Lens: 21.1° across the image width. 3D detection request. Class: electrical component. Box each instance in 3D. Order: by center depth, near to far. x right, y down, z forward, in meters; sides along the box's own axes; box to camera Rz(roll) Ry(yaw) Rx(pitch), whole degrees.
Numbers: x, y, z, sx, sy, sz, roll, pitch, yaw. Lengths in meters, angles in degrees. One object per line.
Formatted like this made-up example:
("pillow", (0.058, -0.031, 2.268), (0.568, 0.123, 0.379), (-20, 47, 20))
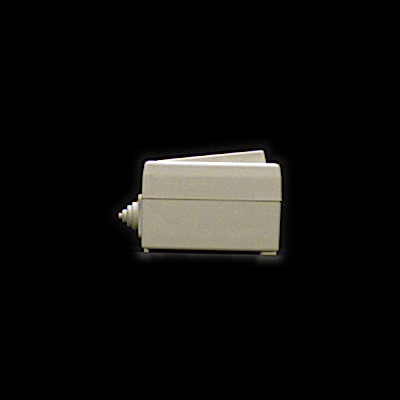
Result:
("electrical component", (0.000, 0.000, 0.650), (0.096, 0.061, 0.061), (1, 0, -1))
